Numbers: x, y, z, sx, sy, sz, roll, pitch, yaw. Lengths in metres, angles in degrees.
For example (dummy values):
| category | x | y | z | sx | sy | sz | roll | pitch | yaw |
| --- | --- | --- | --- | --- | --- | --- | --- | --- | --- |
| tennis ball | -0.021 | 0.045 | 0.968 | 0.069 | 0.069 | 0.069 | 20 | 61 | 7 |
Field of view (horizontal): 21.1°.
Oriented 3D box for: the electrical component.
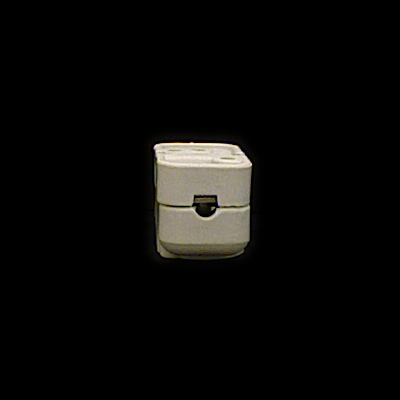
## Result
| category | x | y | z | sx | sy | sz | roll | pitch | yaw |
| --- | --- | --- | --- | --- | --- | --- | --- | --- | --- |
| electrical component | 0.000 | 0.000 | 0.649 | 0.054 | 0.060 | 0.094 | 0 | 11 | -4 |
